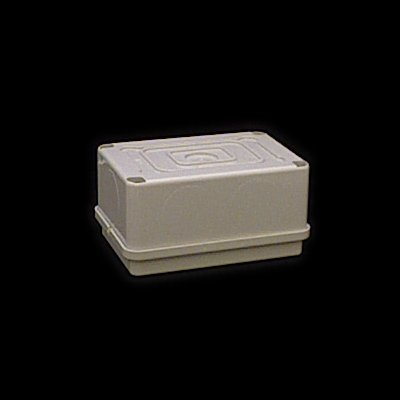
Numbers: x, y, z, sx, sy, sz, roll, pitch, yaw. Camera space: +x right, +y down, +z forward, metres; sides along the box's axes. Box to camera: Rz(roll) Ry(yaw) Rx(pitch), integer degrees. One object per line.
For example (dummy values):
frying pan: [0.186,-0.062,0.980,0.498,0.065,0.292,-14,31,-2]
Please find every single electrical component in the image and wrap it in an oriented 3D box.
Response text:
electrical component: [0.000,0.000,0.639,0.113,0.058,0.077,-7,22,-18]
